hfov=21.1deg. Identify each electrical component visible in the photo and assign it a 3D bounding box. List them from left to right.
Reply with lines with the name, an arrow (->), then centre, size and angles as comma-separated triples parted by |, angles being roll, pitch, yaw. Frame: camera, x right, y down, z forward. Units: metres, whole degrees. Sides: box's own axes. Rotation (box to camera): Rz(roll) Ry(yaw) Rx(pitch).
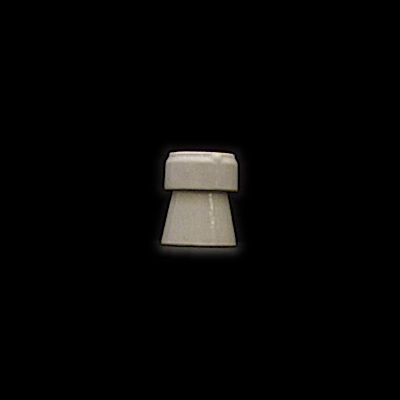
electrical component -> 0.000, 0.000, 0.650 | 0.045, 0.055, 0.045 | 2, 1, 0
